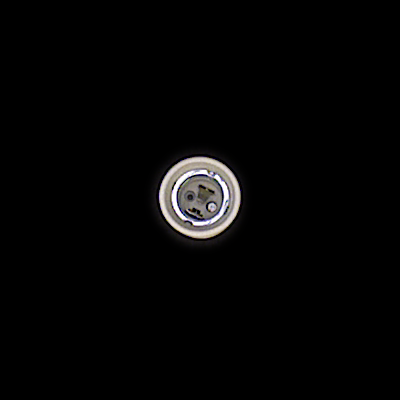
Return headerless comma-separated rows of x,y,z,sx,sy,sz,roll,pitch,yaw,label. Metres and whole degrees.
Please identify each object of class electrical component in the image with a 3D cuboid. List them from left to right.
0.000,0.000,0.629,0.045,0.045,0.055,0,-6,1,electrical component
